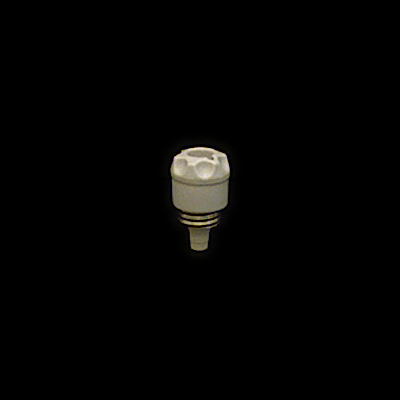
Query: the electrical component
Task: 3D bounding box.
[{"bbox_3d":[0.000,0.000,0.643,0.035,0.062,0.035,1,22,0],"label":"electrical component"}]
